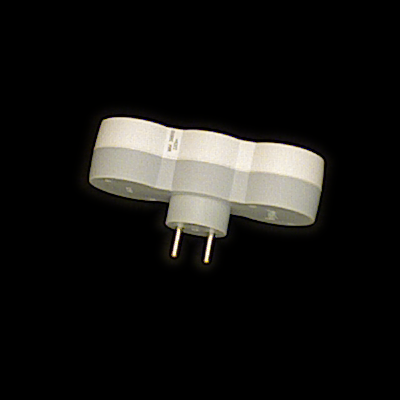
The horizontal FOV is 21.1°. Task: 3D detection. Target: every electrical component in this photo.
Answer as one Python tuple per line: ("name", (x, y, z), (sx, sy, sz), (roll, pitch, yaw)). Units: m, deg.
("electrical component", (0.000, 0.000, 0.637), (0.138, 0.074, 0.052), (10, -14, 3))
